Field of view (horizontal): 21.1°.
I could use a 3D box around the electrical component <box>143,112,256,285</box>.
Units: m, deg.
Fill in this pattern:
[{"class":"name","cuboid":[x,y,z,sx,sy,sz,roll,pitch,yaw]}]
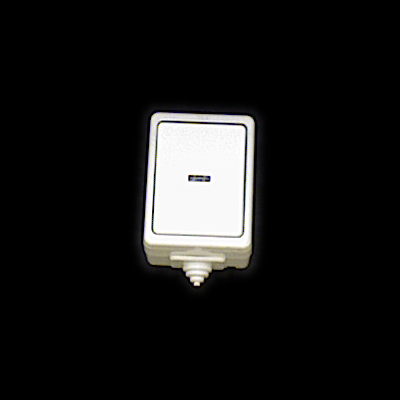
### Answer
[{"class":"electrical component","cuboid":[0.000,0.000,0.625,0.062,0.097,0.060,2,-17,1]}]
